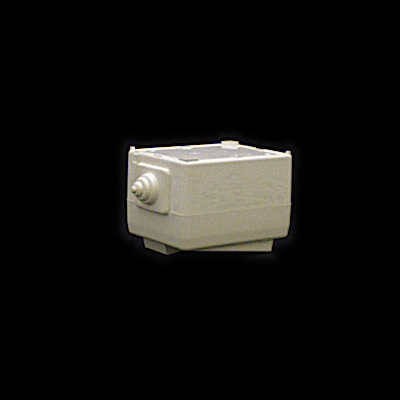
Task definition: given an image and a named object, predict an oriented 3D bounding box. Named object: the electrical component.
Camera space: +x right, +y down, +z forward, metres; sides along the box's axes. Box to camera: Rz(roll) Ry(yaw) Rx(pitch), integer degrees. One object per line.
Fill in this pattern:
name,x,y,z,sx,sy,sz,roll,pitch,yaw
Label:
electrical component,0.000,0.000,0.638,0.096,0.061,0.061,-6,13,-37
